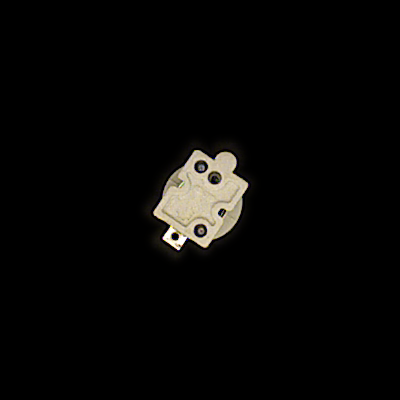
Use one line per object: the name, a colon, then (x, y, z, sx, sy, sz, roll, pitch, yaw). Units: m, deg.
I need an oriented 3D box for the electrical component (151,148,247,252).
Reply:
electrical component: (0.000, 0.000, 0.639, 0.048, 0.066, 0.055, 34, -3, 3)
